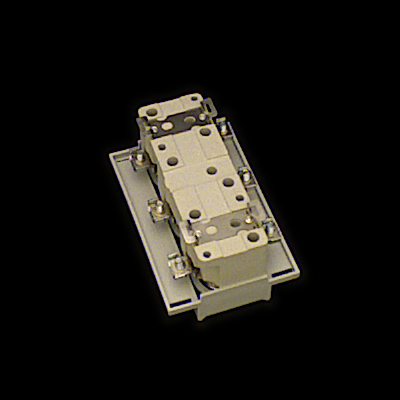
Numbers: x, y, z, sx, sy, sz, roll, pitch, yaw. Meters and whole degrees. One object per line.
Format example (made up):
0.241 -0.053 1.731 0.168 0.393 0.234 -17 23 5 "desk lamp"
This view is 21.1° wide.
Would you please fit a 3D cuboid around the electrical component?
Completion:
0.000 0.000 0.634 0.079 0.120 0.063 -16 -35 -11 "electrical component"
